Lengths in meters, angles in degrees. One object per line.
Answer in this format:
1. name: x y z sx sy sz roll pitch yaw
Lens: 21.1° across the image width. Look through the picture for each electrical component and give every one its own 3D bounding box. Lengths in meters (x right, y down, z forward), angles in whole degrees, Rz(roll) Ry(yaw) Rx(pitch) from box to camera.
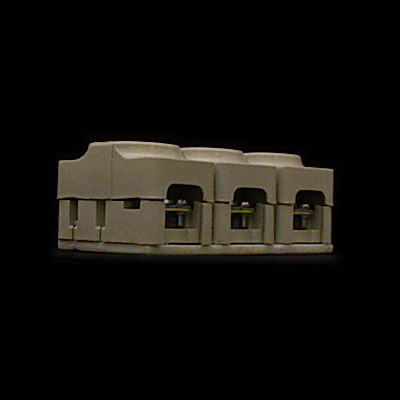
1. electrical component: 0.000 0.000 0.657 0.151 0.062 0.089 3 -2 -43
